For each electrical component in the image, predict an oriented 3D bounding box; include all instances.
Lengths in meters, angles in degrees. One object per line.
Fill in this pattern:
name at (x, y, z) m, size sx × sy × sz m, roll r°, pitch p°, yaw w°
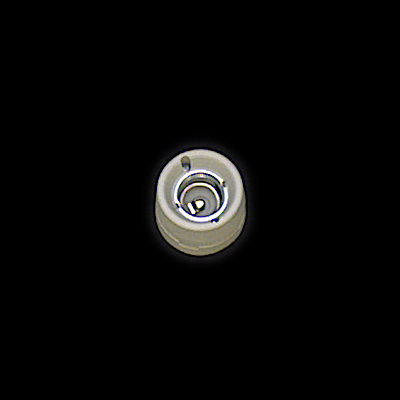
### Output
electrical component at (0.000, 0.000, 0.633) m, size 0.055 × 0.056 × 0.047 m, roll 0°, pitch -18°, yaw 0°
